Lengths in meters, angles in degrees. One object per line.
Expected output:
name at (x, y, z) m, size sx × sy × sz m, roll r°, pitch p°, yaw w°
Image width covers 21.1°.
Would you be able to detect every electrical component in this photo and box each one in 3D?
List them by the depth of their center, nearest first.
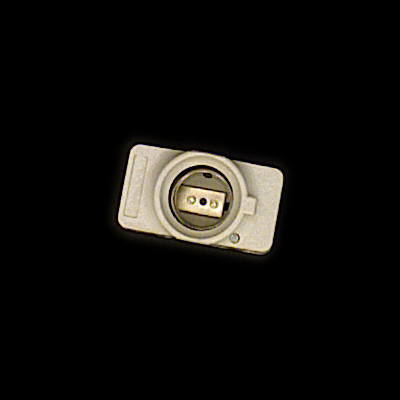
electrical component at (0.000, 0.000, 0.637) m, size 0.089 × 0.050 × 0.055 m, roll 10°, pitch -5°, yaw 2°
